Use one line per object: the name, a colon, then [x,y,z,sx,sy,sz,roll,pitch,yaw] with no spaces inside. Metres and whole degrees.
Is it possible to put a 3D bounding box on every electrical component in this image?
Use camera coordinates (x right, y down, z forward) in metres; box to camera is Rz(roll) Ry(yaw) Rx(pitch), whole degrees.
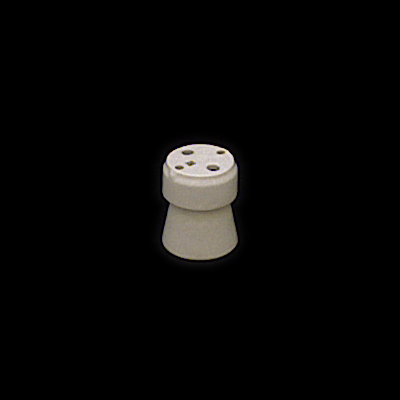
electrical component: [0.000,0.000,0.636,0.045,0.056,0.044,1,31,0]
